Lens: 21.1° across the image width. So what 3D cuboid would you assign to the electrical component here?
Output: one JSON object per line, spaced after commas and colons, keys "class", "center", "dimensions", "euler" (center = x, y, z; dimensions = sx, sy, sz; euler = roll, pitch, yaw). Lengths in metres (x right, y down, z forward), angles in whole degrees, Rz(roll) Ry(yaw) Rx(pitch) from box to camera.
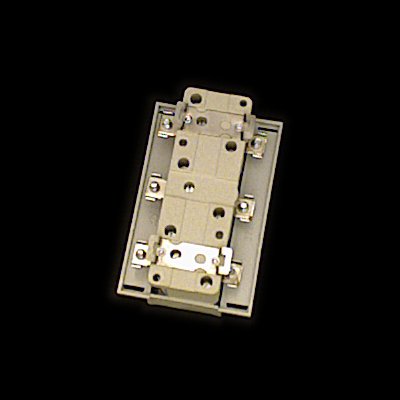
{"class": "electrical component", "center": [0.000, 0.000, 0.633], "dimensions": [0.079, 0.122, 0.062], "euler": [10, -16, 3]}
